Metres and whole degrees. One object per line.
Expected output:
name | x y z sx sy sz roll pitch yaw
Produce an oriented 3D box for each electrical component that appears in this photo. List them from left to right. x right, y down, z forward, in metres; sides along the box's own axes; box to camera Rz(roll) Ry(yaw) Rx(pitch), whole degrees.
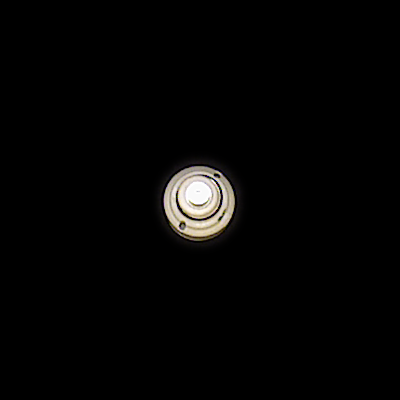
electrical component | 0.000 0.000 0.618 0.040 0.040 0.078 0 -7 0
